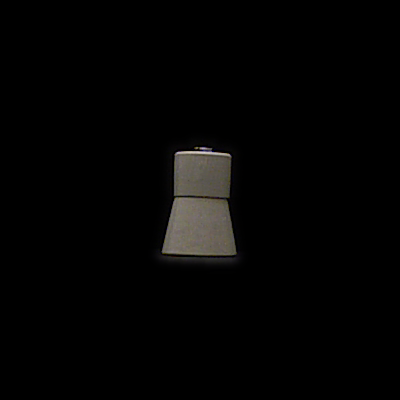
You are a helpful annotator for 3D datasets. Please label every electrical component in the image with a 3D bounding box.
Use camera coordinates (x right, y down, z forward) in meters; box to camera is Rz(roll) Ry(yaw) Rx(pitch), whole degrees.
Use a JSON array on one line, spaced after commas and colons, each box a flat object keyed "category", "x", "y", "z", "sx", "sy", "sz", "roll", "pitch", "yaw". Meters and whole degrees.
[{"category": "electrical component", "x": 0.000, "y": 0.000, "z": 0.649, "sx": 0.044, "sy": 0.065, "sz": 0.044, "roll": 2, "pitch": 1, "yaw": 0}]
